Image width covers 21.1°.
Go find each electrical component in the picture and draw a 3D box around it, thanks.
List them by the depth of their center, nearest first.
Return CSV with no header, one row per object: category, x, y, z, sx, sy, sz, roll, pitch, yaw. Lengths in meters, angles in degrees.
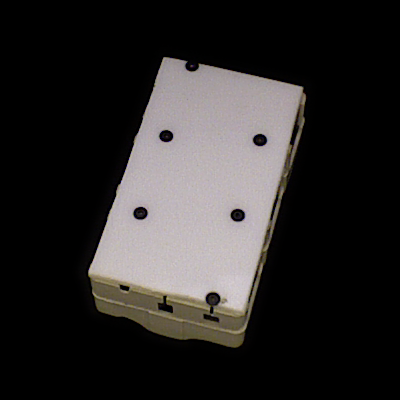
electrical component,0.000,0.000,0.632,0.089,0.149,0.062,14,-27,7
